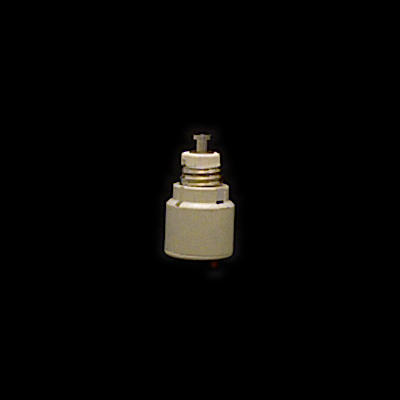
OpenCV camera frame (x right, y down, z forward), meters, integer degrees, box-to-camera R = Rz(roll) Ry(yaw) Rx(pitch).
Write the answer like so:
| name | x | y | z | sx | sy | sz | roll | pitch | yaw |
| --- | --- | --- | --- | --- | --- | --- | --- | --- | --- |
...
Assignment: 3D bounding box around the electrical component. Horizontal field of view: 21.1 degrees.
| name | x | y | z | sx | sy | sz | roll | pitch | yaw |
| --- | --- | --- | --- | --- | --- | --- | --- | --- | --- |
| electrical component | 0.000 | 0.000 | 0.641 | 0.040 | 0.079 | 0.040 | 2 | 10 | 0 |
